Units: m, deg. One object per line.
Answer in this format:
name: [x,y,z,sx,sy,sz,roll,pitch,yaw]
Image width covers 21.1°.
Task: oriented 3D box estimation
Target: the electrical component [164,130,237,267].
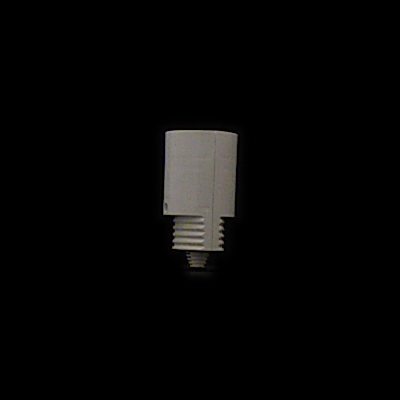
electrical component: [0.000,0.000,0.649,0.043,0.081,0.043,1,2,0]
